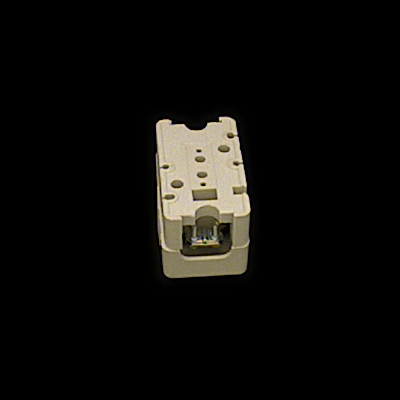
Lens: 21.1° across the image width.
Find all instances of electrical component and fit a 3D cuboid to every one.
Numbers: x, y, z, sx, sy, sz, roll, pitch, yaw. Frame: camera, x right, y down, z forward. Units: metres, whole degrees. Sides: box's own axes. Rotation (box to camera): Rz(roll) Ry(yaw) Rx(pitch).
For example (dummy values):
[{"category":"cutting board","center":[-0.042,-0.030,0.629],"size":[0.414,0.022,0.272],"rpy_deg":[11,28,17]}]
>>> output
[{"category":"electrical component","center":[0.000,0.000,0.639],"size":[0.050,0.056,0.088],"rpy_deg":[-3,43,-4]}]
